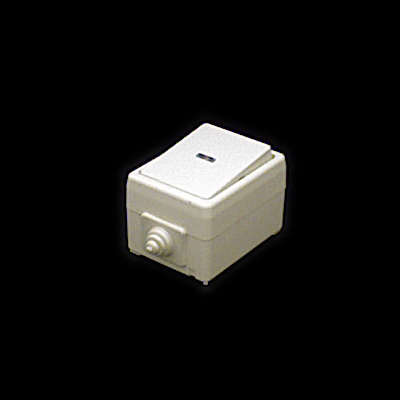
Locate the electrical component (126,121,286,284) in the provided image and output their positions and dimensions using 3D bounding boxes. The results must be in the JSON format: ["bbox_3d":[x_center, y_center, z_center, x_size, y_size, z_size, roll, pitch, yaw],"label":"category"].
[{"bbox_3d":[0.000,0.000,0.633,0.061,0.061,0.096,22,37,31],"label":"electrical component"}]
